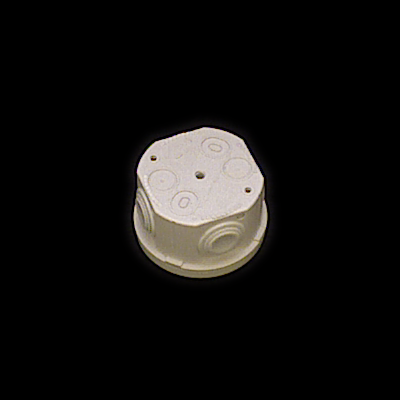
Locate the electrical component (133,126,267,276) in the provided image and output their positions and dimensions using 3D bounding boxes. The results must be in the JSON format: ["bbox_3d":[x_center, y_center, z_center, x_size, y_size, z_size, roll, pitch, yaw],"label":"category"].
[{"bbox_3d":[0.000,0.000,0.633,0.080,0.080,0.051,0,-38,0],"label":"electrical component"}]
